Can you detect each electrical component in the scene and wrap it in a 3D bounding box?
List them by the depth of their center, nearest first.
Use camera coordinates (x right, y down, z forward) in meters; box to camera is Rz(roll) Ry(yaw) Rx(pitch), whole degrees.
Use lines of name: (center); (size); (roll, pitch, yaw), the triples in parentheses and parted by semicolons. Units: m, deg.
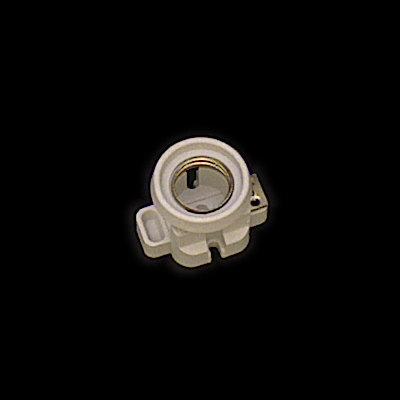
electrical component: (0.000, 0.000, 0.629); (0.078, 0.058, 0.057); (-18, -26, -9)
